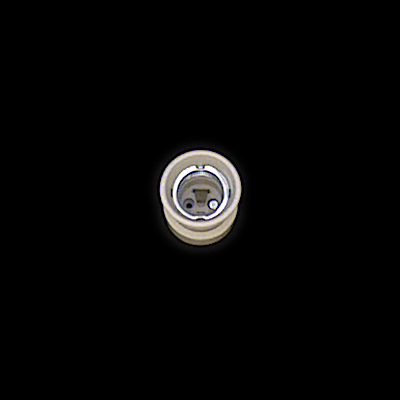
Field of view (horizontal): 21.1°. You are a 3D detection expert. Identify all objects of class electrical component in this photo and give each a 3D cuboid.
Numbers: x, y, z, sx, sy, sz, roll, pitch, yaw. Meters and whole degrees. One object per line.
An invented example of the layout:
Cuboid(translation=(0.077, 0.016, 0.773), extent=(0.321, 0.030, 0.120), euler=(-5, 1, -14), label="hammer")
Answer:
Cuboid(translation=(0.000, 0.000, 0.627), extent=(0.045, 0.045, 0.055), euler=(0, -16, 1), label="electrical component")
